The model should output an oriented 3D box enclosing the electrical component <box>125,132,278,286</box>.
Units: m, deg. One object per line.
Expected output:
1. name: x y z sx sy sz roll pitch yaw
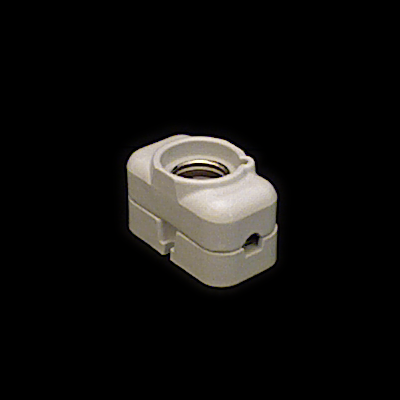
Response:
1. electrical component: 0.000 0.000 0.642 0.054 0.060 0.093 -25 41 -33
